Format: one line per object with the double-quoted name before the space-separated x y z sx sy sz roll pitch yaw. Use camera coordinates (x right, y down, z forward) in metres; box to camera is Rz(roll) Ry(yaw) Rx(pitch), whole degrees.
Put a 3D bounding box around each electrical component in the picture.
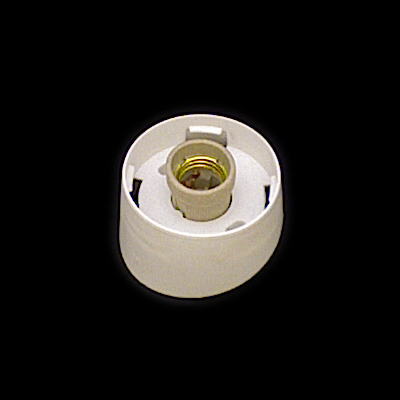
"electrical component" 0.000 0.000 0.627 0.099 0.098 0.064 0 -37 0
